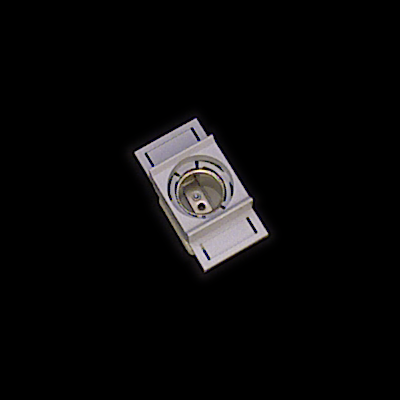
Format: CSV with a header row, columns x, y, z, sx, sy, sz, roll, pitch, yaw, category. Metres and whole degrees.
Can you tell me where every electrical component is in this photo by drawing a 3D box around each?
x,y,z,sx,sy,sz,roll,pitch,yaw,category
0.000,0.000,0.624,0.042,0.081,0.063,-29,-14,-7,electrical component
